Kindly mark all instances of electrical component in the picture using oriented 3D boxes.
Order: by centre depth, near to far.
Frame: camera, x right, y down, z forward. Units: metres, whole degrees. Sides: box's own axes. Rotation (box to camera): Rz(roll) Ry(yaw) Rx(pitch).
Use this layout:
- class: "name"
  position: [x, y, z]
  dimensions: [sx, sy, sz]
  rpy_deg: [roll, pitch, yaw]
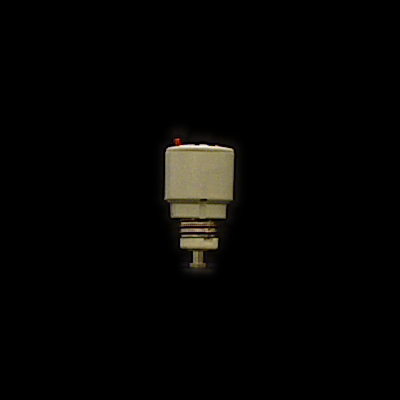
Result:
- class: "electrical component"
  position: [0.000, 0.000, 0.649]
  dimensions: [0.040, 0.078, 0.040]
  rpy_deg: [1, 1, 0]
